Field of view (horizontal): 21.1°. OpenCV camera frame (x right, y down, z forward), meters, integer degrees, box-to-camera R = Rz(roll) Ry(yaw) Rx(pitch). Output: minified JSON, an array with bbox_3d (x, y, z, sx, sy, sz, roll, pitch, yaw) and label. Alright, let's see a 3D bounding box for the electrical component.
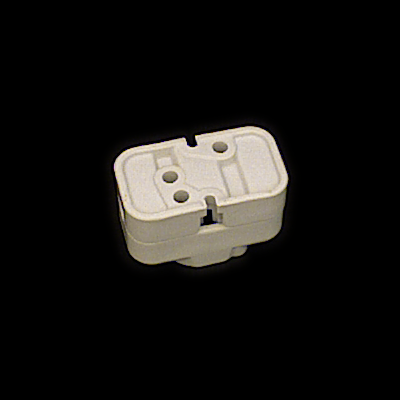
[{"bbox_3d":[0.000,0.000,0.635,0.095,0.053,0.059,-11,-36,-9],"label":"electrical component"}]
